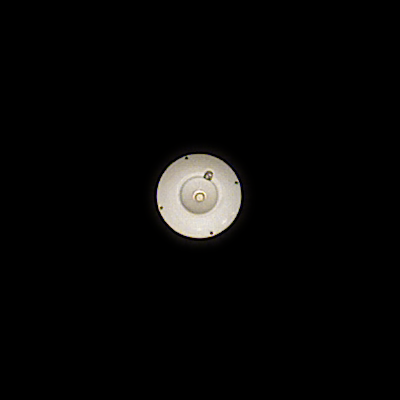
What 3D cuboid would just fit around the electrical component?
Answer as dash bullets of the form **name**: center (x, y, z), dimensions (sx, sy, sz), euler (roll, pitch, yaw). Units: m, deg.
- **electrical component**: center (0.000, 0.000, 0.634), dimensions (0.048, 0.048, 0.062), euler (0, -6, 0)
